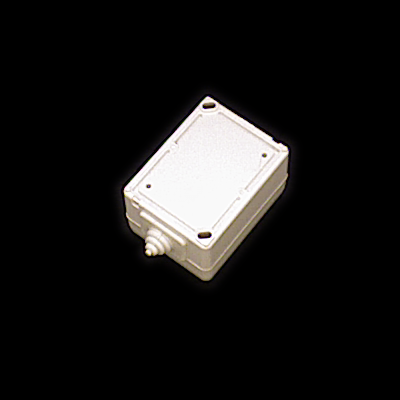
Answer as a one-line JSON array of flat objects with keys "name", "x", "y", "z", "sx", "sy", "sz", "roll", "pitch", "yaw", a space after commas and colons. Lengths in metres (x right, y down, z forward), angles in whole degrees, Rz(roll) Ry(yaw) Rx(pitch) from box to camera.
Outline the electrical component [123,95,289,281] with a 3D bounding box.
[{"name": "electrical component", "x": 0.000, "y": 0.000, "z": 0.628, "sx": 0.061, "sy": 0.096, "sz": 0.061, "roll": 34, "pitch": -22, "yaw": 16}]
